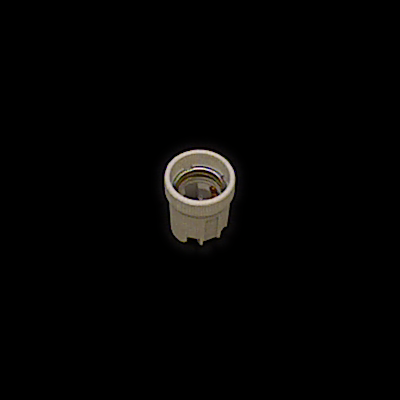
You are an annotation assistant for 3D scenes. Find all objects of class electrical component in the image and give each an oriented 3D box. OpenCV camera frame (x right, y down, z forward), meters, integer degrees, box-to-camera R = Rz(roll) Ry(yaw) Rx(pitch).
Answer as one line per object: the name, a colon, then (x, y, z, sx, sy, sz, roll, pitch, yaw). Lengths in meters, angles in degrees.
electrical component: (0.000, 0.000, 0.629, 0.040, 0.040, 0.046, 0, -38, -1)
